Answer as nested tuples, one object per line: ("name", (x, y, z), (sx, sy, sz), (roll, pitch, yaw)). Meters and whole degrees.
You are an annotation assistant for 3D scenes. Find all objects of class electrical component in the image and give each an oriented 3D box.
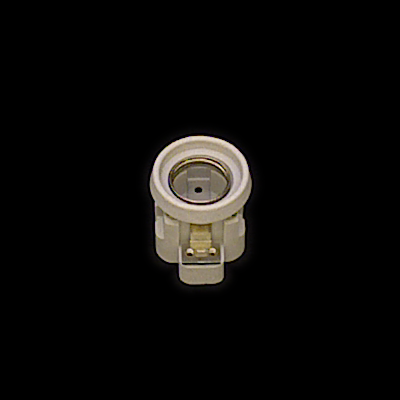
("electrical component", (0.000, 0.000, 0.628), (0.058, 0.078, 0.057), (-1, -37, -2))
